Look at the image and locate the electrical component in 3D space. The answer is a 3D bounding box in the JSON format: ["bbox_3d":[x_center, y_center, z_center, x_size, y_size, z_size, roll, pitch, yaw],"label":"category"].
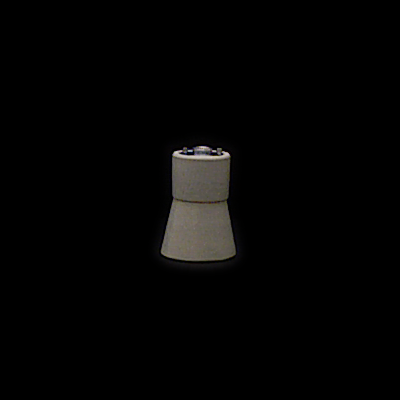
[{"bbox_3d":[0.000,0.000,0.642,0.044,0.066,0.044,2,12,0],"label":"electrical component"}]
